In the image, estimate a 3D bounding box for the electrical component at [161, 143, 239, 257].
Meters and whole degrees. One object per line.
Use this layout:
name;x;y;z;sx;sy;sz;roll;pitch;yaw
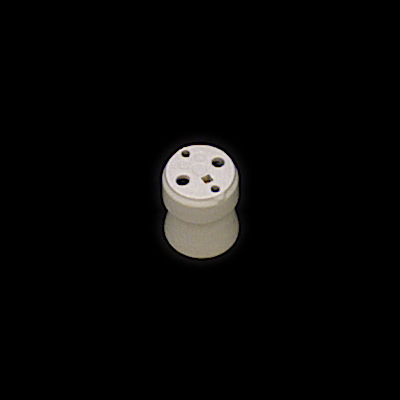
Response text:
electrical component;0.000;0.000;0.629;0.045;0.044;0.055;0;-38;0
